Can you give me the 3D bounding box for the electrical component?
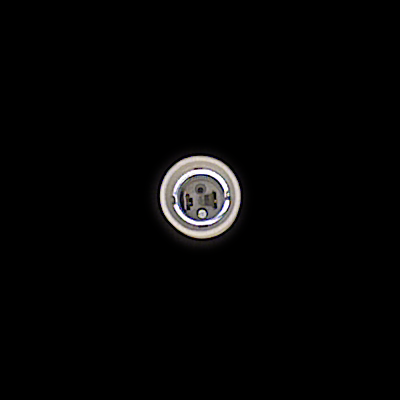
[{"bbox_3d":[0.000,0.000,0.629,0.045,0.045,0.055,0,-6,1],"label":"electrical component"}]
